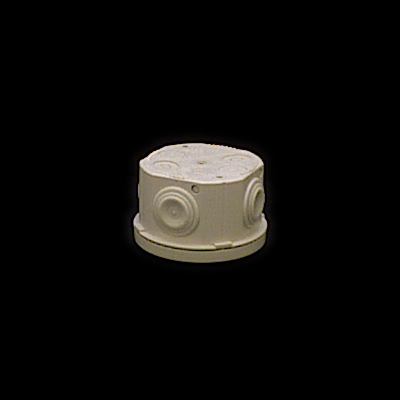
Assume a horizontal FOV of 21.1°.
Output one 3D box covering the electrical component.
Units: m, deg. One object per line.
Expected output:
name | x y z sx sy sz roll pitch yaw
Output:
electrical component | 0.000 0.000 0.640 0.080 0.051 0.079 1 21 0
